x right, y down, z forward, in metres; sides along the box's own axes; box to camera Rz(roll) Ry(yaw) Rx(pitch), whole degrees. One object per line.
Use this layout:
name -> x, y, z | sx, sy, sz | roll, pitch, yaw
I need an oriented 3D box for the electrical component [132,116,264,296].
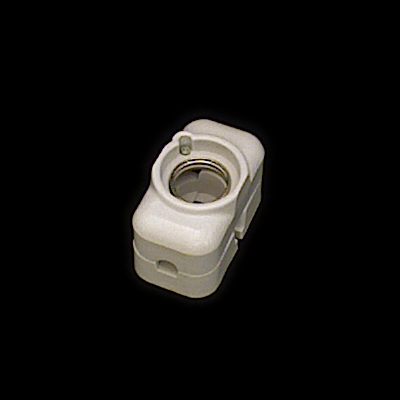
electrical component -> 0.000, 0.000, 0.635 | 0.053, 0.095, 0.059 | 18, -35, 13
